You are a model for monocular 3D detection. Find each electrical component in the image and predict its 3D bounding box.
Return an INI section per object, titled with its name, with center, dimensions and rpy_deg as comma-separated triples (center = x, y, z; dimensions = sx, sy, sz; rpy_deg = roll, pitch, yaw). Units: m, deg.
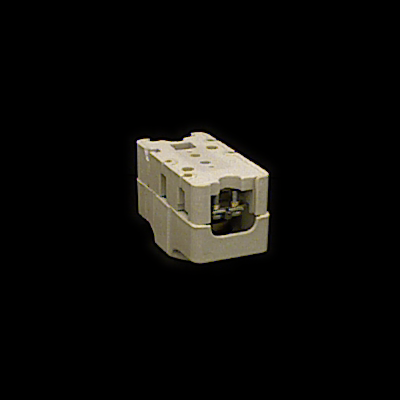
[electrical component]
center = 0.000, 0.000, 0.646
dimensions = 0.050, 0.056, 0.088
rpy_deg = -10, 24, -23
